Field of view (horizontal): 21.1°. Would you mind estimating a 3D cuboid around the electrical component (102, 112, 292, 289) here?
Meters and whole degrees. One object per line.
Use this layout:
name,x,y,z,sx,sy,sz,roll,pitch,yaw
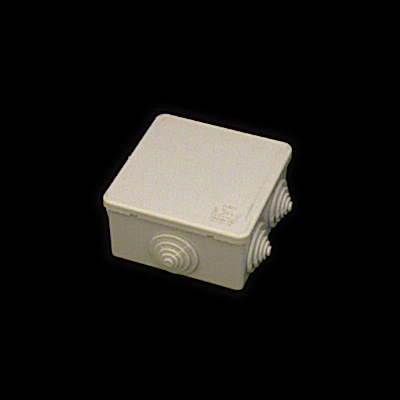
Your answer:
electrical component,0.000,0.000,0.641,0.099,0.049,0.099,15,45,15
